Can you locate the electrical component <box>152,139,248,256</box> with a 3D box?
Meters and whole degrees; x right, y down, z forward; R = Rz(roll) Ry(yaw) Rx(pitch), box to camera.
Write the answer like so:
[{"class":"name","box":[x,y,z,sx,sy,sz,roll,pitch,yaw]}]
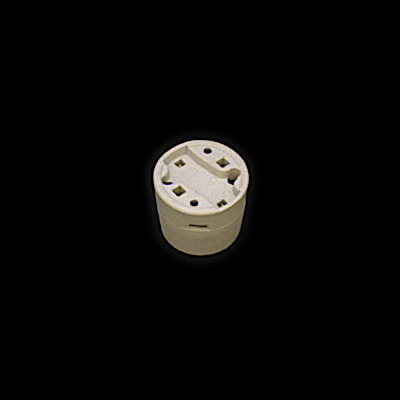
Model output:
[{"class":"electrical component","box":[0.000,0.000,0.634,0.055,0.055,0.047,0,-38,0]}]
